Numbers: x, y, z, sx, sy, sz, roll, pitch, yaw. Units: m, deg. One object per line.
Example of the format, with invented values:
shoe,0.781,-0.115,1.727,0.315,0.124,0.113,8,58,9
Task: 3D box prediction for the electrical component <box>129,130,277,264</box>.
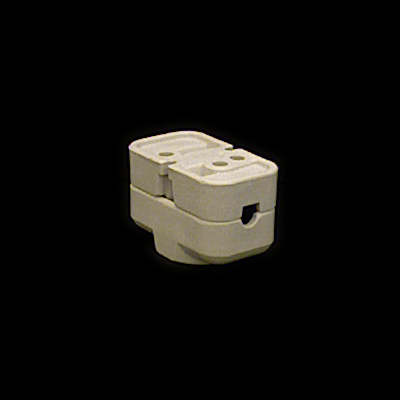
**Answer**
electrical component,0.000,0.000,0.648,0.054,0.060,0.093,-15,26,-35
